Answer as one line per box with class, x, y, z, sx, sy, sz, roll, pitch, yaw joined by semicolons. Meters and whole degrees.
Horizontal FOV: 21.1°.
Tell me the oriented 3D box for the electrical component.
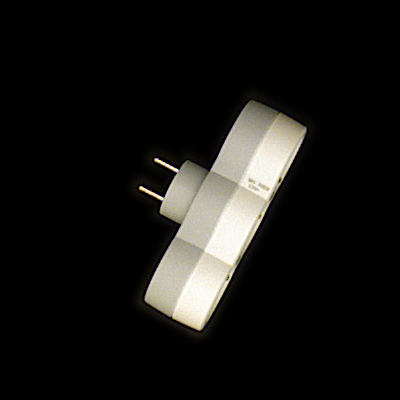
electrical component;0.000;0.000;0.639;0.073;0.138;0.052;28;-5;4
